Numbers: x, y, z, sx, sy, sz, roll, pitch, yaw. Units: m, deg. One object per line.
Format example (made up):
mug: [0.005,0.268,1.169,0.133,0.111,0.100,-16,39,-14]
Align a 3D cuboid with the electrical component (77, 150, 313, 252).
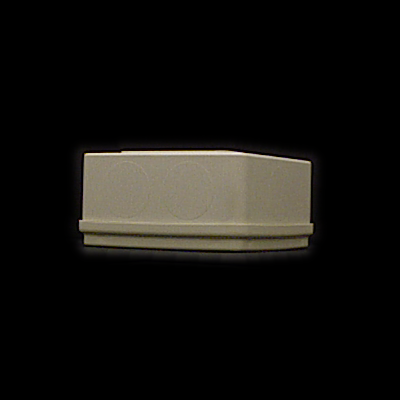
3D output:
electrical component: [0.000,0.000,0.648,0.108,0.056,0.109,1,1,28]
